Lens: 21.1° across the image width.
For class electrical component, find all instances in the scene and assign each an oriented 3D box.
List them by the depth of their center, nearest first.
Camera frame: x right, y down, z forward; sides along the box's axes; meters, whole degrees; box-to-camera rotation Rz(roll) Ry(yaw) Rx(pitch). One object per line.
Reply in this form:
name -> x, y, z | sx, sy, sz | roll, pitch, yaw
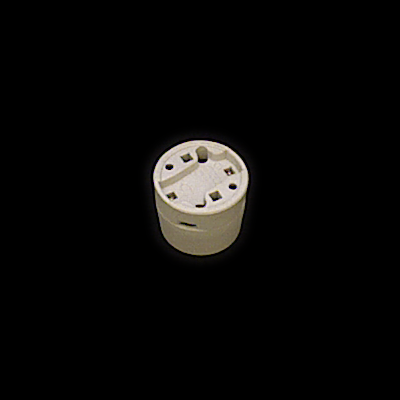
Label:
electrical component -> 0.000, 0.000, 0.635 | 0.055, 0.055, 0.047 | 0, -37, 0
